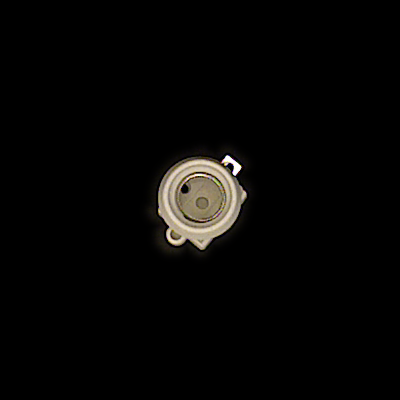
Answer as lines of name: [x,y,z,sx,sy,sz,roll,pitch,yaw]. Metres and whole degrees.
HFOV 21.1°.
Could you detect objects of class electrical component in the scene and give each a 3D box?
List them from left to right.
electrical component: [0.000,0.000,0.639,0.048,0.066,0.055,38,-4,2]
